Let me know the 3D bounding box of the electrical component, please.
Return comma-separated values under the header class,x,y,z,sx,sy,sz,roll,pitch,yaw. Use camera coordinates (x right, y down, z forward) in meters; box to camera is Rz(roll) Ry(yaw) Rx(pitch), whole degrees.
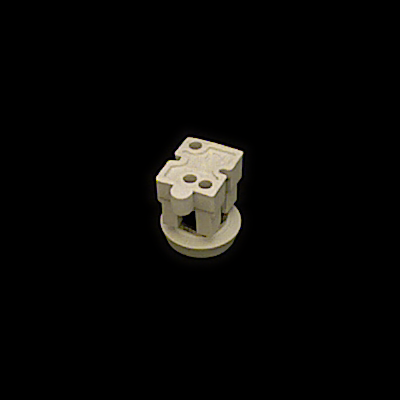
class,x,y,z,sx,sy,sz,roll,pitch,yaw
electrical component,0.000,0.000,0.639,0.048,0.056,0.066,17,44,18
